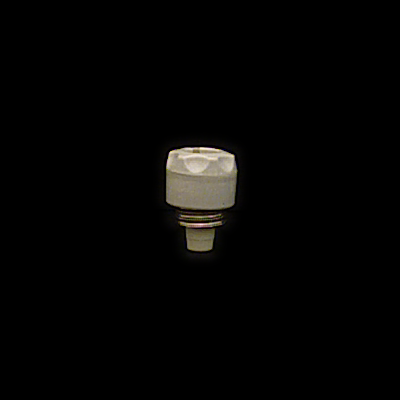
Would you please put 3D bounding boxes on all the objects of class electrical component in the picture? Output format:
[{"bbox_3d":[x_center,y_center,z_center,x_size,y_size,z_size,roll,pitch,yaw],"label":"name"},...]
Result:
[{"bbox_3d":[0.000,0.000,0.650,0.043,0.062,0.043,2,13,0],"label":"electrical component"}]
